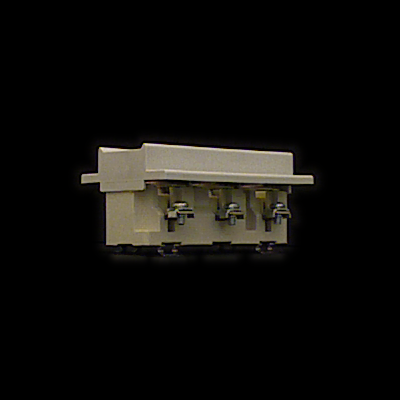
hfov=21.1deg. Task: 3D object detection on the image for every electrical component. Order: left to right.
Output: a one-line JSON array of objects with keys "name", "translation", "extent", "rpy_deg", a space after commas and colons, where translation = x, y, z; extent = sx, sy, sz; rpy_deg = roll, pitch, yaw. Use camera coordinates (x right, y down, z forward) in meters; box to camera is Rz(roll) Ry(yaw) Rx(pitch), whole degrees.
[{"name": "electrical component", "translation": [0.000, 0.000, 0.662], "extent": [0.122, 0.063, 0.078], "rpy_deg": [1, 0, -42]}]
